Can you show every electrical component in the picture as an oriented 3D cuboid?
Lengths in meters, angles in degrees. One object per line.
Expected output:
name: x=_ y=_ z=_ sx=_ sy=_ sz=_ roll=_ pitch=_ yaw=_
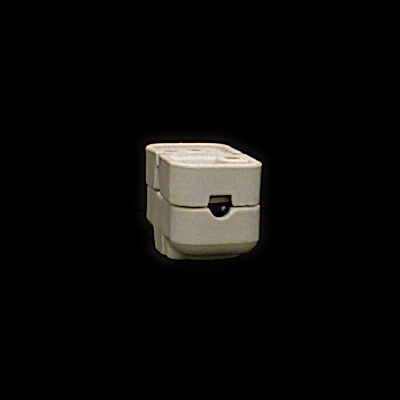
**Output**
electrical component: x=0.000 y=0.000 z=0.649 sx=0.054 sy=0.060 sz=0.094 roll=-2 pitch=12 yaw=-14
